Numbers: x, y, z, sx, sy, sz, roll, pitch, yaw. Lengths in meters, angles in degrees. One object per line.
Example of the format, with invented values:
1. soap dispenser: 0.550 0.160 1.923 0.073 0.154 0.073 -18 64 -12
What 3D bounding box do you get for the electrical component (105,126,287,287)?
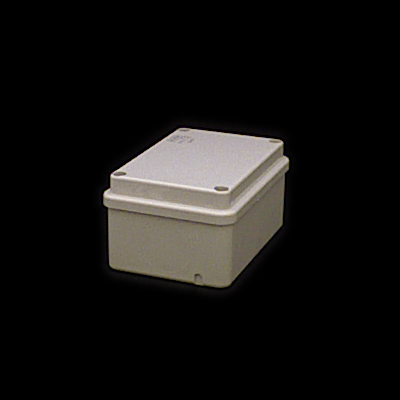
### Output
1. electrical component: 0.000 0.000 0.639 0.078 0.058 0.112 9 22 19
